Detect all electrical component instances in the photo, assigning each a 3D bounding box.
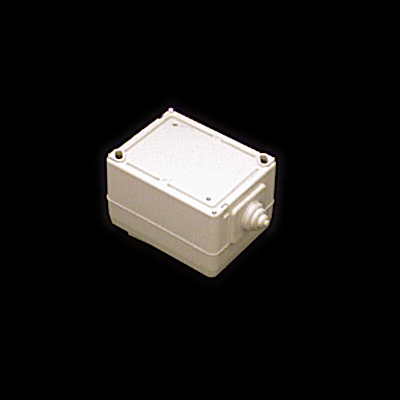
[{"bbox_3d":[0.000,0.000,0.629,0.096,0.061,0.061,28,49,26],"label":"electrical component"}]
